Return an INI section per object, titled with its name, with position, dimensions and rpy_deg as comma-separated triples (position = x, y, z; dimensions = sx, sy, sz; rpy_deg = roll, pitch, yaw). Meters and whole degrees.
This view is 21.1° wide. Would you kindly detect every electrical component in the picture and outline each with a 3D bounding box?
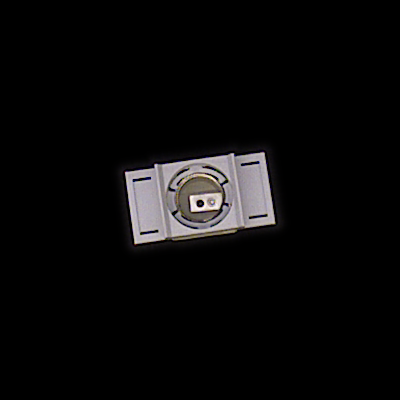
[electrical component]
position = 0.000, 0.000, 0.625
dimensions = 0.081, 0.042, 0.063
rpy_deg = -8, -7, 0
